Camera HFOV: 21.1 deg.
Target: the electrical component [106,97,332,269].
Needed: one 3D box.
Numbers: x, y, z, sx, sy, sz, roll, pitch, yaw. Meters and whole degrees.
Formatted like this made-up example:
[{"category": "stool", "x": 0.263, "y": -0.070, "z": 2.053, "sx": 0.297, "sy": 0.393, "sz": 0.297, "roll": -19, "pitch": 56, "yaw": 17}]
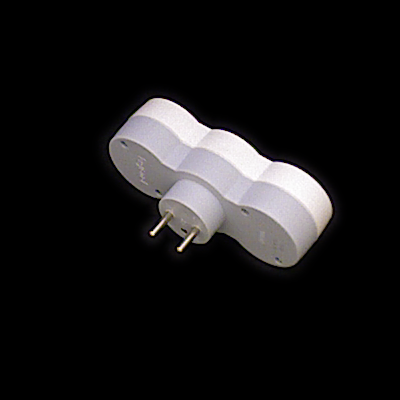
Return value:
[{"category": "electrical component", "x": 0.000, "y": 0.000, "z": 0.631, "sx": 0.138, "sy": 0.074, "sz": 0.052, "roll": 29, "pitch": -30, "yaw": 19}]
